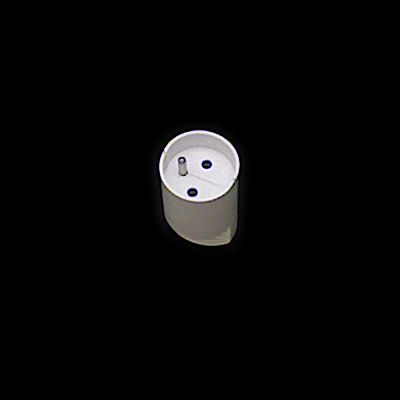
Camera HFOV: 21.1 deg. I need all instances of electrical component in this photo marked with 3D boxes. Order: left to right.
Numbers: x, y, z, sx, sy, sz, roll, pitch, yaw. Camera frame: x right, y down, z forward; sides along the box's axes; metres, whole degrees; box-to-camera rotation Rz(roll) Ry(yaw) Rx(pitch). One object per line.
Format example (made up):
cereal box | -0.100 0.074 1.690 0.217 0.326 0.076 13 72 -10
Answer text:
electrical component | 0.000 0.000 0.616 0.043 0.043 0.081 0 -28 1
